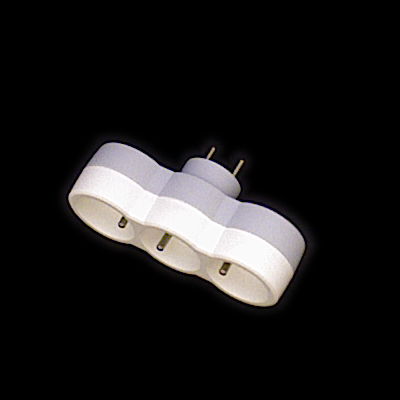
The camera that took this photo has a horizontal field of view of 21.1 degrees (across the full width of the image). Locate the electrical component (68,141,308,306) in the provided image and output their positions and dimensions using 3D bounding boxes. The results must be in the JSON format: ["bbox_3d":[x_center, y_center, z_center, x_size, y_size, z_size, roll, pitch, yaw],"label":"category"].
[{"bbox_3d":[0.000,0.000,0.631,0.138,0.074,0.052,24,-27,12],"label":"electrical component"}]
